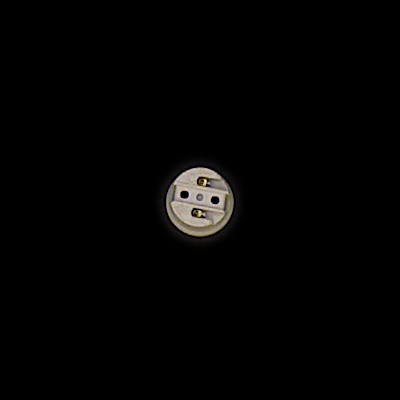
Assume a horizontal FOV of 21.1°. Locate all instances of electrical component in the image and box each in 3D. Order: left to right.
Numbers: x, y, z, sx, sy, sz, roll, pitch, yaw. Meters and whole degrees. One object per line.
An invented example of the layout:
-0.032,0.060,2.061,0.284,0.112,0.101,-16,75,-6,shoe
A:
0.000,0.000,0.634,0.040,0.040,0.046,0,-6,0,electrical component
